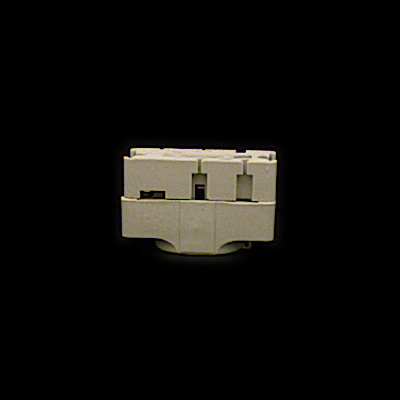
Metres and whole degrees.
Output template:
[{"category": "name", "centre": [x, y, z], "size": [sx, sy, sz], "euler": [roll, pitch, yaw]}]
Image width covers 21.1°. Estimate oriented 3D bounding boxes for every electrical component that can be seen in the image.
[{"category": "electrical component", "centre": [0.000, 0.000, 0.652], "size": [0.089, 0.056, 0.050], "euler": [2, 11, 2]}]
